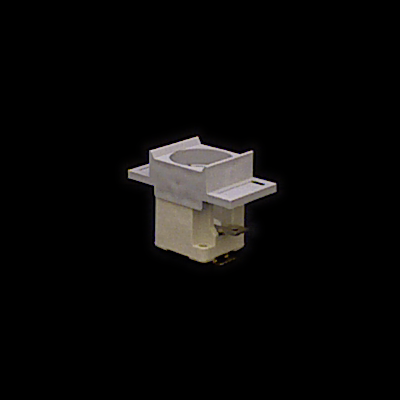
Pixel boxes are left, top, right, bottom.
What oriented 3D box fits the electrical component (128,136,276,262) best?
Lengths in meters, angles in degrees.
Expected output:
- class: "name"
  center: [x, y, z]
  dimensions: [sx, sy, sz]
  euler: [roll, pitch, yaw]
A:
- class: "electrical component"
  center: [0.000, 0.000, 0.636]
  dimensions: [0.080, 0.064, 0.042]
  euler: [18, 26, 39]
